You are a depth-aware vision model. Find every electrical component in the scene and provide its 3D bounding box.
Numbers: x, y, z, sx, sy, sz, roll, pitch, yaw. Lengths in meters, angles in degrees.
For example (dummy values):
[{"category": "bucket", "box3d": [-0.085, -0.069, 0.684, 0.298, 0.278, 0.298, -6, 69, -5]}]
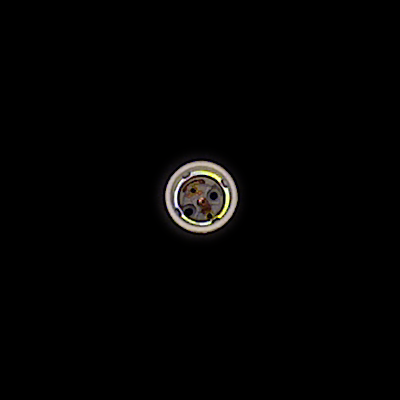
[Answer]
[{"category": "electrical component", "box3d": [0.000, 0.000, 0.627, 0.040, 0.040, 0.046, 0, -6, 0]}]
